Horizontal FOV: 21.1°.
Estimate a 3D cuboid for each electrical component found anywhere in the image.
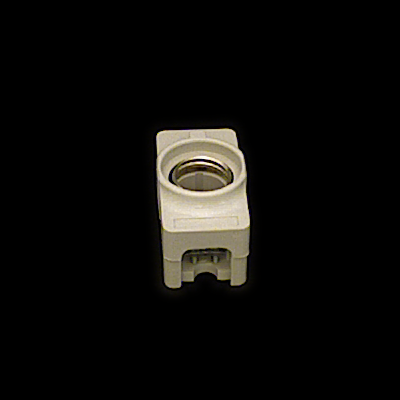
[{"bbox_3d":[0.000,0.000,0.639,0.050,0.056,0.088,-3,43,-4],"label":"electrical component"}]
